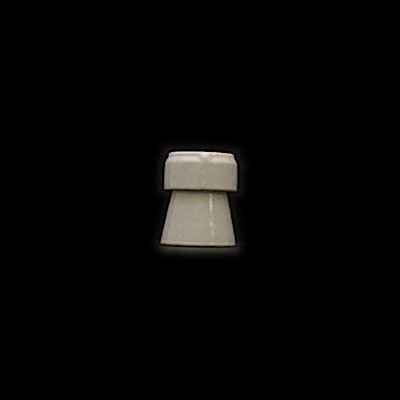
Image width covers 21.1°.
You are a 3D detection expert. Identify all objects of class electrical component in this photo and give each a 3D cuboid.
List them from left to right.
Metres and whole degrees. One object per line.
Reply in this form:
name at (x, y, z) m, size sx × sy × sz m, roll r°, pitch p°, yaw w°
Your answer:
electrical component at (0.000, 0.000, 0.650) m, size 0.045 × 0.055 × 0.044 m, roll 2°, pitch 1°, yaw 0°
